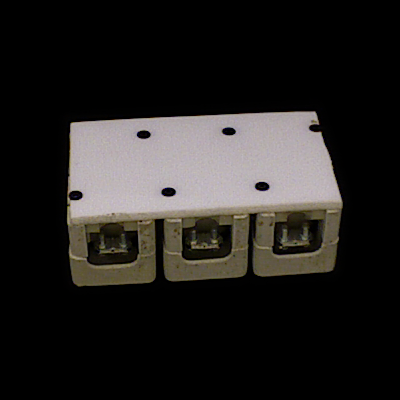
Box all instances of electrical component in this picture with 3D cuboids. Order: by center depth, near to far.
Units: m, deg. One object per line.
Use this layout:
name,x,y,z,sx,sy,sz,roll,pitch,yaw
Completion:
electrical component,0.000,0.000,0.635,0.150,0.063,0.088,-3,41,-4
